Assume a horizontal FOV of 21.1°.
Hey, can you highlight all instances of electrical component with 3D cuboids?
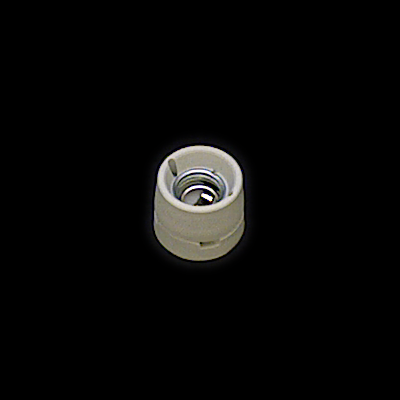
[{"bbox_3d":[0.000,0.000,0.633,0.055,0.055,0.047,0,-36,-1],"label":"electrical component"}]
